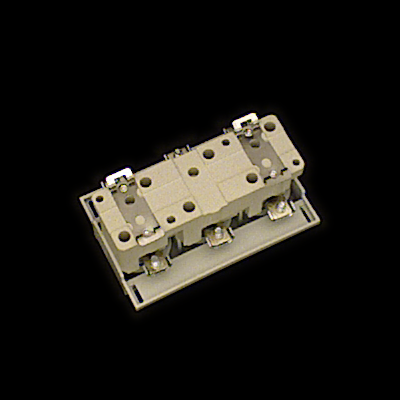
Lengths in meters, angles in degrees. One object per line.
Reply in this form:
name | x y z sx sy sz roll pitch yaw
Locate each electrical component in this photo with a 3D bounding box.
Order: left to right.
electrical component | 0.000 0.000 0.633 0.122 0.078 0.063 -25 -23 -12
